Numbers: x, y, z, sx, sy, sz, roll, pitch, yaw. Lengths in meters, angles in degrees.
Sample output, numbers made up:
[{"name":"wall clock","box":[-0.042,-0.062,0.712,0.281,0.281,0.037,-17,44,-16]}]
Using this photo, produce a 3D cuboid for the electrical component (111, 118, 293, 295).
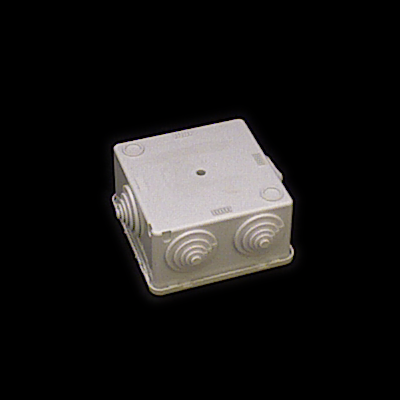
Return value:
[{"name":"electrical component","box":[0.000,0.000,0.633,0.100,0.049,0.098,-13,44,-14]}]
